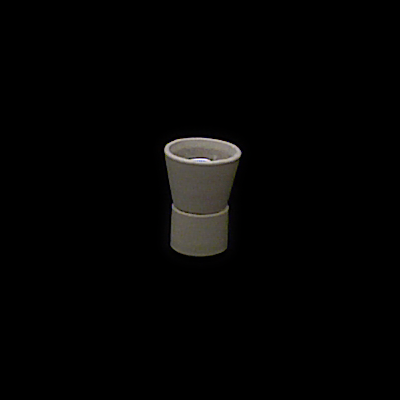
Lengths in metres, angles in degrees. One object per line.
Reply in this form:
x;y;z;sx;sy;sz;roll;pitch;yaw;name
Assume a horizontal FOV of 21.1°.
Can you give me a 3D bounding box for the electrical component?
0.000;0.000;0.638;0.044;0.066;0.044;2;22;-1;electrical component
